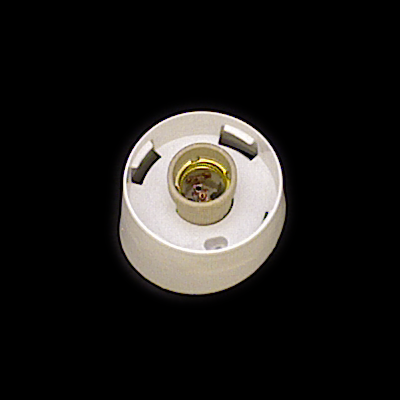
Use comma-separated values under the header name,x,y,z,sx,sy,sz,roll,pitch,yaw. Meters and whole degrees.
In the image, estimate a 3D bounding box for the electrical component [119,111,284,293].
name,x,y,z,sx,sy,sz,roll,pitch,yaw
electrical component,0.000,0.000,0.625,0.099,0.099,0.064,0,-27,0
